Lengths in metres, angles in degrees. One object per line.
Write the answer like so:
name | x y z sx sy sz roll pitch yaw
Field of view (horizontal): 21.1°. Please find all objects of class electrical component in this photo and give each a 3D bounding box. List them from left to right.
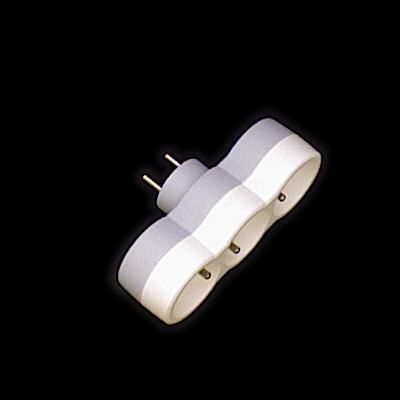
electrical component | 0.000 0.000 0.629 0.073 0.139 0.052 38 -21 19
